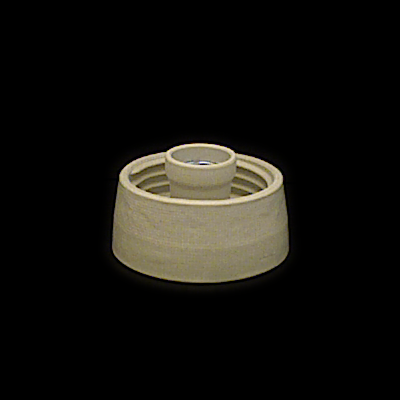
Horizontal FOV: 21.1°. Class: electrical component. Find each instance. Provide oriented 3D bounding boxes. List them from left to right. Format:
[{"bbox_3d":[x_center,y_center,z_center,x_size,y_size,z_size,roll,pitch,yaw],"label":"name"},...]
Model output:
[{"bbox_3d":[0.000,0.000,0.646,0.108,0.061,0.106,1,21,0],"label":"electrical component"}]
